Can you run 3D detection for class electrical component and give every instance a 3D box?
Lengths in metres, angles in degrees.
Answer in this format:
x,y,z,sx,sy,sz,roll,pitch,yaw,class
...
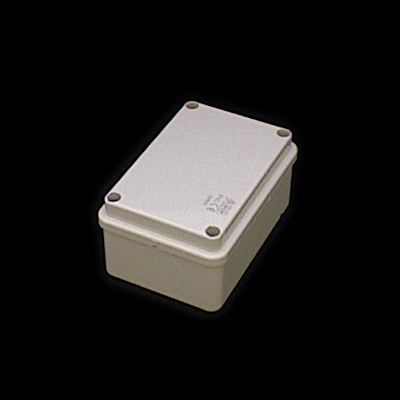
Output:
x,y,z,sx,sy,sz,roll,pitch,yaw,class
0.000,0.000,0.630,0.078,0.057,0.112,19,45,19,electrical component
